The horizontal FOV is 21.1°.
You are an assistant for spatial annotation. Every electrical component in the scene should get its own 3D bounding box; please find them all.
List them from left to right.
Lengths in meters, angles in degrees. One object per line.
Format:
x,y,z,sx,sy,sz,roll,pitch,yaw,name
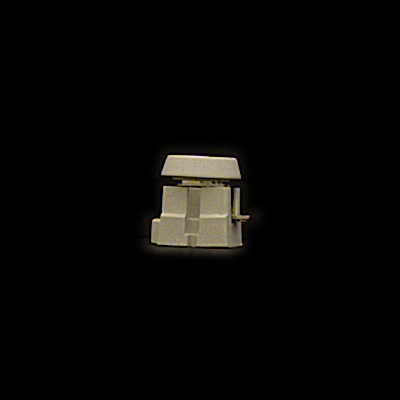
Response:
0.000,0.000,0.657,0.066,0.055,0.048,2,4,15,electrical component
